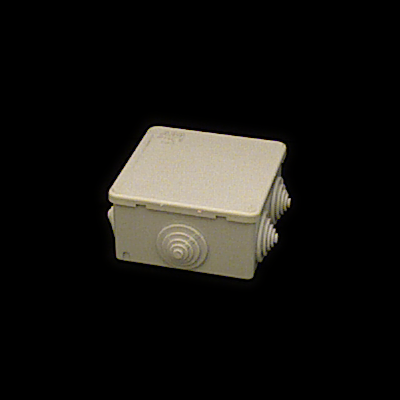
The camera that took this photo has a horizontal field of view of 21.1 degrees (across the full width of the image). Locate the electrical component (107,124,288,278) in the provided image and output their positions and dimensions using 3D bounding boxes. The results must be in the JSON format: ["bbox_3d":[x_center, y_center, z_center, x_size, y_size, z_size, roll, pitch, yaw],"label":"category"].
[{"bbox_3d":[0.000,0.000,0.645,0.099,0.049,0.099,9,33,12],"label":"electrical component"}]
